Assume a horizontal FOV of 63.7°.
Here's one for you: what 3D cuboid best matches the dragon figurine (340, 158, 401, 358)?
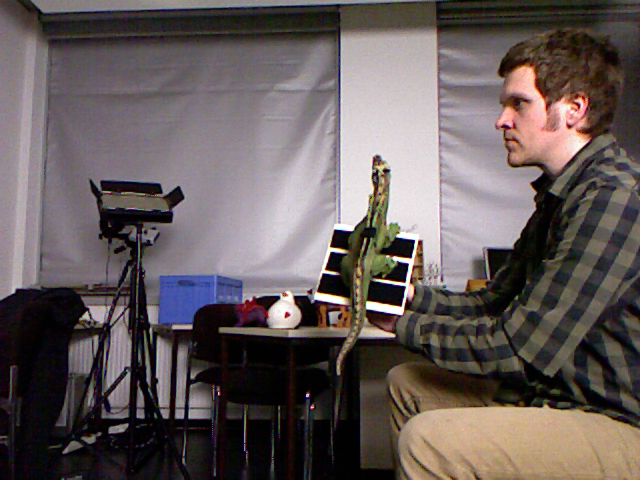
[{"bbox_3d":[0.095,0.023,1.062,0.123,0.419,0.239,8,-22,11],"label":"dragon figurine"}]
